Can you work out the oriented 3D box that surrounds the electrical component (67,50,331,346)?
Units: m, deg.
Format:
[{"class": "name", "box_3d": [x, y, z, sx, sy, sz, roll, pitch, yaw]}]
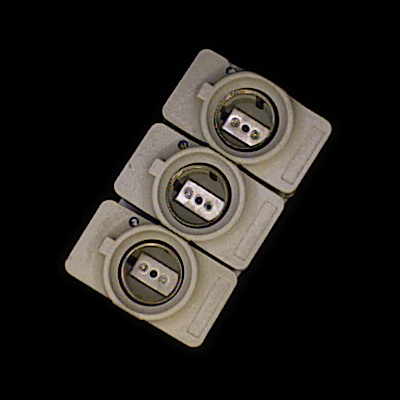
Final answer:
[{"class": "electrical component", "box_3d": [0.000, 0.000, 0.632, 0.089, 0.150, 0.061, 32, -6, 4]}]
